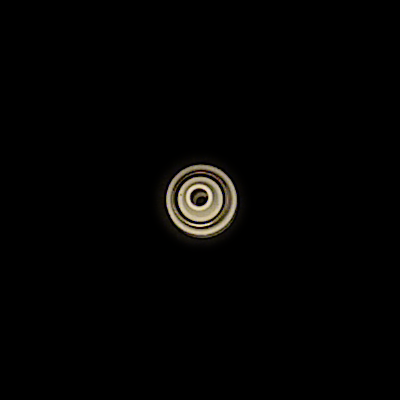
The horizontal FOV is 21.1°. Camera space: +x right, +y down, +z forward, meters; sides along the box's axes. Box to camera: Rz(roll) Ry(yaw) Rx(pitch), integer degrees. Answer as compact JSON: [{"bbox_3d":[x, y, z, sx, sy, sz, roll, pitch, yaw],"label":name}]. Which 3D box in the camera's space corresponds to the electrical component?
[{"bbox_3d":[0.000,0.000,0.635,0.043,0.043,0.062,0,-4,2],"label":"electrical component"}]
